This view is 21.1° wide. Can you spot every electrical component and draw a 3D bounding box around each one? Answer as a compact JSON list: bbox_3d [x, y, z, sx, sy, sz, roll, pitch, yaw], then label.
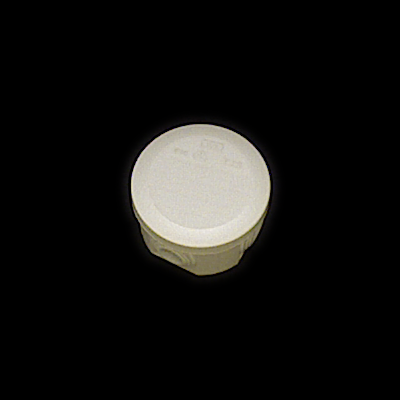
[{"bbox_3d":[0.000,0.000,0.630,0.080,0.080,0.050,0,-27,0],"label":"electrical component"}]
